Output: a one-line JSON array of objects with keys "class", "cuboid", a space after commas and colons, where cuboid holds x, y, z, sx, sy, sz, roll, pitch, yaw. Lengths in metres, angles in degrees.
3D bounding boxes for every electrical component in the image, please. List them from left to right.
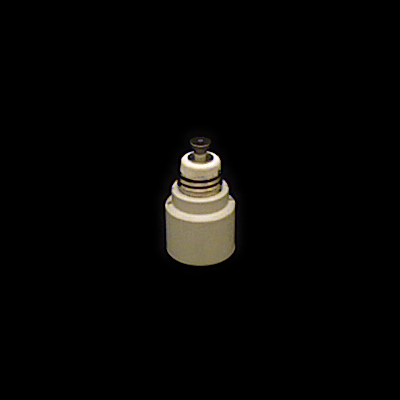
[{"class": "electrical component", "cuboid": [0.000, 0.000, 0.629, 0.040, 0.079, 0.039, 0, 32, 0]}]
